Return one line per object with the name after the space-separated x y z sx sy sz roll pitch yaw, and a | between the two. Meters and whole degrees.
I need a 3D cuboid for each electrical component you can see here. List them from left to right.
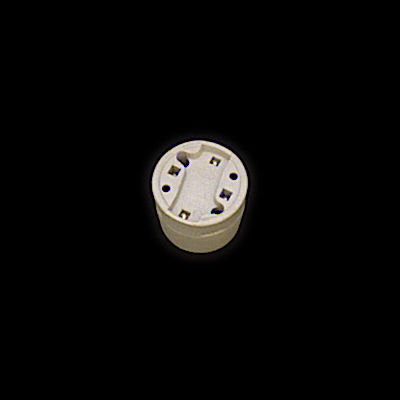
0.000 0.000 0.633 0.055 0.056 0.047 0 -27 0 | electrical component
